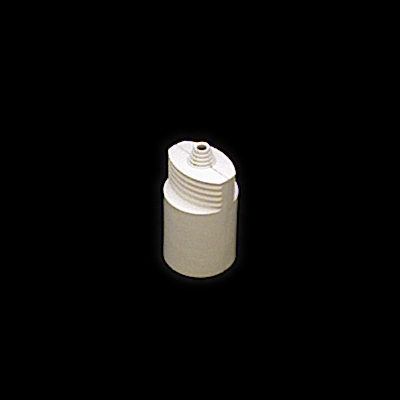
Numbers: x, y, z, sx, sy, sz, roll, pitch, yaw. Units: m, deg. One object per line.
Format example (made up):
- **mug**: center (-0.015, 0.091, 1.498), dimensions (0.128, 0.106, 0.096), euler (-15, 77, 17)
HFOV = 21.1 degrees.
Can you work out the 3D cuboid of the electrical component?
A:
- **electrical component**: center (0.000, 0.000, 0.623), dimensions (0.043, 0.082, 0.042), euler (0, 42, 0)
